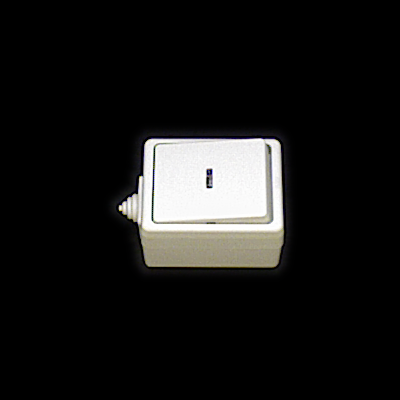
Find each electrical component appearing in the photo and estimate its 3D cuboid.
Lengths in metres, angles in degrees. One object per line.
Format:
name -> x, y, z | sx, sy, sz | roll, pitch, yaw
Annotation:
electrical component -> 0.000, 0.000, 0.626 | 0.096, 0.062, 0.061 | 0, -27, 0
